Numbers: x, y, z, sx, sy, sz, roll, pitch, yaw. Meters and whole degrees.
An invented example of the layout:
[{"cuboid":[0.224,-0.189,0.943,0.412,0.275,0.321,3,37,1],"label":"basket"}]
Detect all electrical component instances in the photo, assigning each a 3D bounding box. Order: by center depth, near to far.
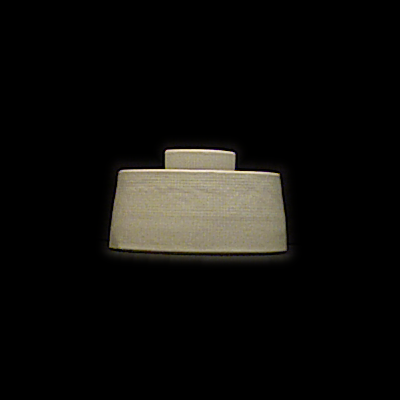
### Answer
[{"cuboid":[0.000,0.000,0.655,0.108,0.060,0.108,2,1,1],"label":"electrical component"}]
